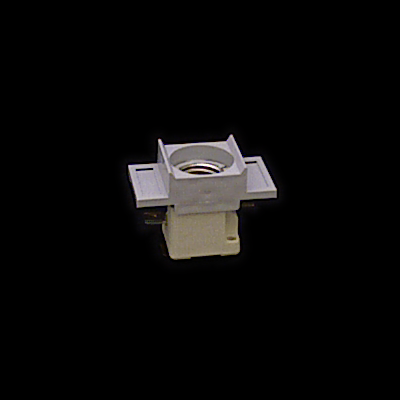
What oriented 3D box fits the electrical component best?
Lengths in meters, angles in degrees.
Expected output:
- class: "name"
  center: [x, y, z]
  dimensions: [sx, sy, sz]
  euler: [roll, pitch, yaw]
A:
- class: "electrical component"
  center: [0.000, 0.000, 0.632]
  dimensions: [0.081, 0.064, 0.041]
  euler: [-4, 33, -9]
